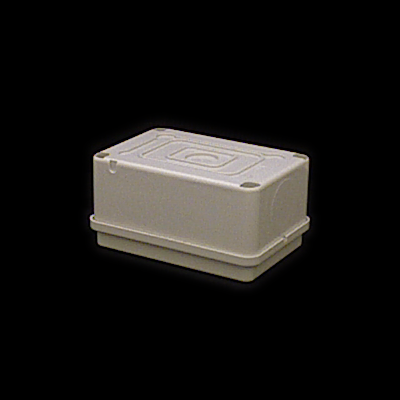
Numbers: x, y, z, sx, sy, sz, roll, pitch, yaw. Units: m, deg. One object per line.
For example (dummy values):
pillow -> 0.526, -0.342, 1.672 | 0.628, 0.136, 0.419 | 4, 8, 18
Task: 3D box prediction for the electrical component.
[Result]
electrical component -> 0.000, 0.000, 0.639 | 0.112, 0.058, 0.077 | 13, 24, 28
